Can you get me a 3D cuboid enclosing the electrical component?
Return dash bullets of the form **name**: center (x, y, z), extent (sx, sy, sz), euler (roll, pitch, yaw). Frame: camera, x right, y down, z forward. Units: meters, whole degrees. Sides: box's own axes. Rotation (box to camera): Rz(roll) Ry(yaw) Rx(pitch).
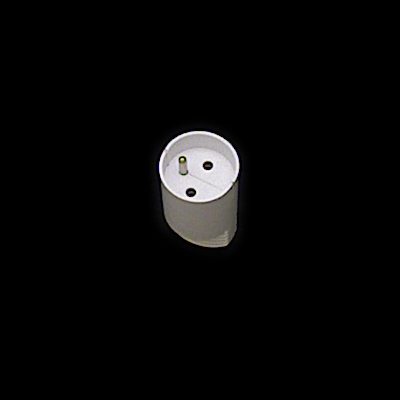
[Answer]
- **electrical component**: center (0.000, 0.000, 0.616), extent (0.043, 0.043, 0.081), euler (0, -28, 1)
